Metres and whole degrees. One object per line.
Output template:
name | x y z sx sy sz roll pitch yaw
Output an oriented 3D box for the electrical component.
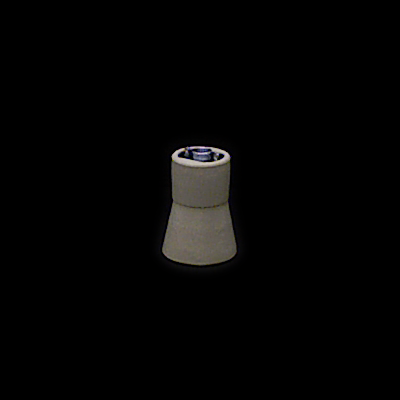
electrical component | 0.000 0.000 0.637 0.044 0.066 0.044 1 22 0
